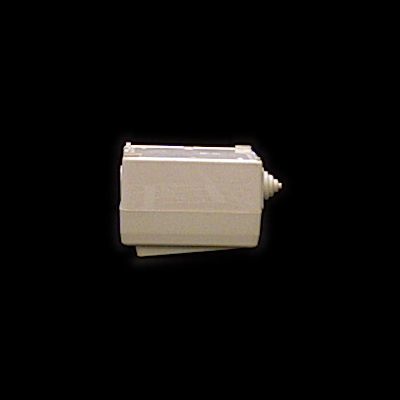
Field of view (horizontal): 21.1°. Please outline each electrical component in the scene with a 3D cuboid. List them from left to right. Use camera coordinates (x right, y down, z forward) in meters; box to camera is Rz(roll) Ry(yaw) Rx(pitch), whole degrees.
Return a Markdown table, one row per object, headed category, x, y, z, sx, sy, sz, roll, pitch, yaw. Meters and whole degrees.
| category | x | y | z | sx | sy | sz | roll | pitch | yaw |
| --- | --- | --- | --- | --- | --- | --- | --- | --- | --- |
| electrical component | 0.000 | 0.000 | 0.642 | 0.096 | 0.061 | 0.061 | 1 | 11 | -4 |
